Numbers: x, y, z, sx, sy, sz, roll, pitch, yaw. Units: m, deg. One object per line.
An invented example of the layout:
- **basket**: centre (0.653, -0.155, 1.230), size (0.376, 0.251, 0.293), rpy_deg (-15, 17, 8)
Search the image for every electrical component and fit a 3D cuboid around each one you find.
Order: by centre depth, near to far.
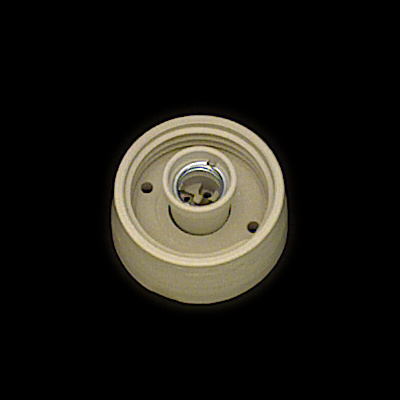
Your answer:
- **electrical component**: centre (0.000, 0.000, 0.633), size (0.108, 0.108, 0.060), rpy_deg (0, -27, -1)
